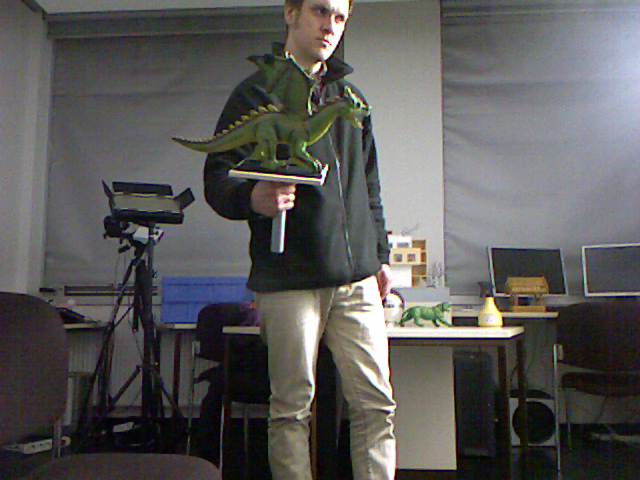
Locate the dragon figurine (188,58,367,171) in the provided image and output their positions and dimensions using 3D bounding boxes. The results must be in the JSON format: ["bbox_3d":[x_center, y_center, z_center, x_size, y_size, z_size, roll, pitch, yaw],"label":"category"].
[{"bbox_3d":[-0.102,-0.286,1.164,0.411,0.239,0.124,8,23,3],"label":"dragon figurine"}]
